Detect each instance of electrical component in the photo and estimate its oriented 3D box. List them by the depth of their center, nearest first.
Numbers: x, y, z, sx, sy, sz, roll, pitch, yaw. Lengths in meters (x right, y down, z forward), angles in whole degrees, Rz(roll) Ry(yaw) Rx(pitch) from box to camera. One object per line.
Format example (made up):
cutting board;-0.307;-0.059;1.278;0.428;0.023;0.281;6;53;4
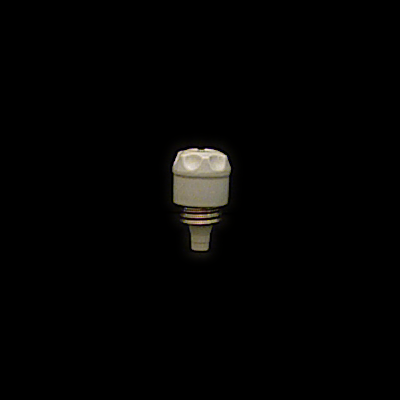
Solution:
electrical component;0.000;0.000;0.653;0.035;0.062;0.035;1;12;0
